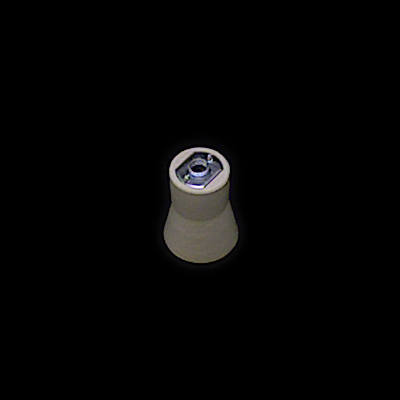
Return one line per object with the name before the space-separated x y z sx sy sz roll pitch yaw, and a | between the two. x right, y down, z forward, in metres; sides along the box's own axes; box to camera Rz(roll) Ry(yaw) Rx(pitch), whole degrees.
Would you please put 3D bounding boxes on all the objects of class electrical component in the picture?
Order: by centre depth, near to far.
electrical component | 0.000 0.000 0.627 0.044 0.044 0.065 0 -38 1
